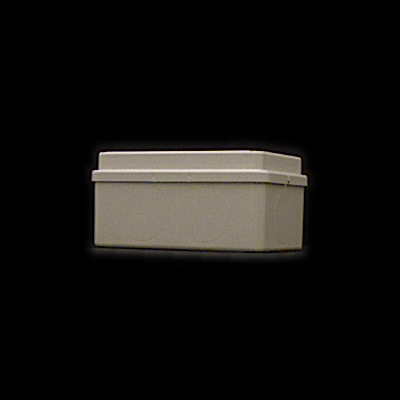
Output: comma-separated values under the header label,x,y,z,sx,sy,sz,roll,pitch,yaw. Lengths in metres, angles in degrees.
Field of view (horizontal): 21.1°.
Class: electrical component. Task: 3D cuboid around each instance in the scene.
label,x,y,z,sx,sy,sz,roll,pitch,yaw
electrical component,0.000,0.000,0.651,0.113,0.057,0.078,1,0,25
